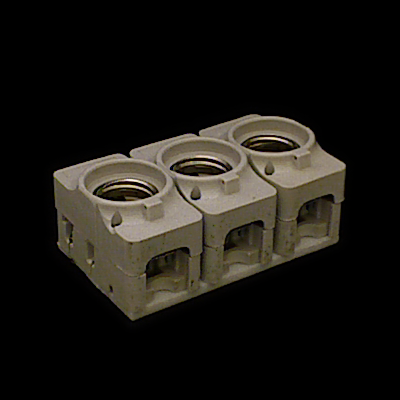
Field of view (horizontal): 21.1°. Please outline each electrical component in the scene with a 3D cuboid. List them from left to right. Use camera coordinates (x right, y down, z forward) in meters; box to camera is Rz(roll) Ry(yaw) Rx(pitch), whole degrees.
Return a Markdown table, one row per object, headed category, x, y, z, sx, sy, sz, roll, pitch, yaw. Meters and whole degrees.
| category | x | y | z | sx | sy | sz | roll | pitch | yaw |
| --- | --- | --- | --- | --- | --- | --- | --- | --- | --- |
| electrical component | 0.000 | 0.000 | 0.639 | 0.149 | 0.063 | 0.088 | -19 | 37 | -29 |
